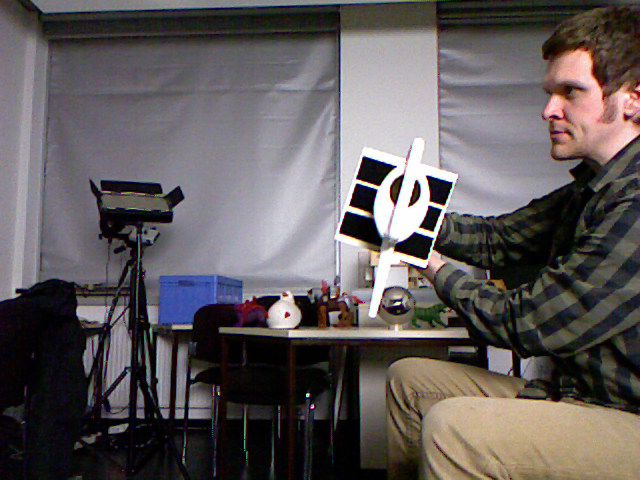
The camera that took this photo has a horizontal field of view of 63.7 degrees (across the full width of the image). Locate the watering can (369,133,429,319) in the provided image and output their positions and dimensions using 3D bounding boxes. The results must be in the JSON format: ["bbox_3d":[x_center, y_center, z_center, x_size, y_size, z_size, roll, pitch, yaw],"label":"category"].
[{"bbox_3d":[0.142,-0.035,1.008,0.104,0.348,0.226,15,3,2],"label":"watering can"}]
